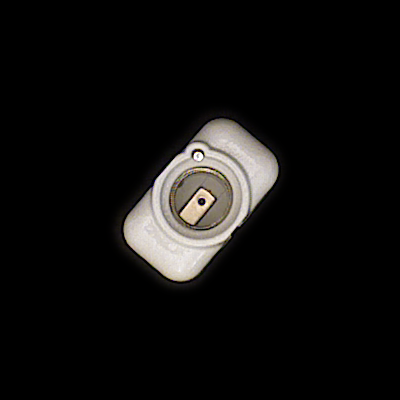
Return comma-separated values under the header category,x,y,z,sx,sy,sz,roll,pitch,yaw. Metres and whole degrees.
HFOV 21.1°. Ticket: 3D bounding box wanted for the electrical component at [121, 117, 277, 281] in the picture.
category,x,y,z,sx,sy,sz,roll,pitch,yaw
electrical component,0.000,0.000,0.635,0.053,0.095,0.059,39,-4,4
